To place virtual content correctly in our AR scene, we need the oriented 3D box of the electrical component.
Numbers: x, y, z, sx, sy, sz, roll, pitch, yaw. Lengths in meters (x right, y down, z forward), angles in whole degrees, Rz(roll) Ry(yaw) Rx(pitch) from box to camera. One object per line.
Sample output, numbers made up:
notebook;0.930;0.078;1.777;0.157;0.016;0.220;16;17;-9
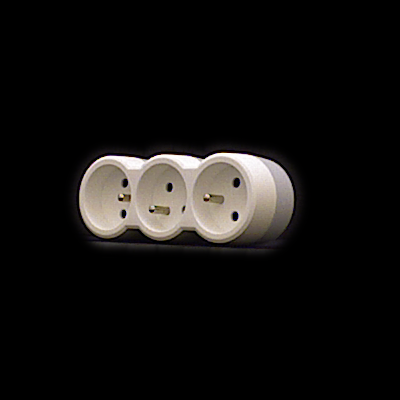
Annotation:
electrical component;0.000;0.000;0.652;0.137;0.052;0.074;0;-2;39
